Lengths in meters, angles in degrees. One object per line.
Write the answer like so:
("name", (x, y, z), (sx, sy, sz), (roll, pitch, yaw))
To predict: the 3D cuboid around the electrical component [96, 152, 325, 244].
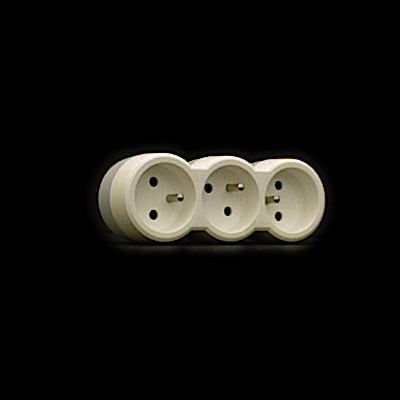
("electrical component", (0.000, 0.000, 0.660), (0.139, 0.052, 0.073), (1, 0, -30))
